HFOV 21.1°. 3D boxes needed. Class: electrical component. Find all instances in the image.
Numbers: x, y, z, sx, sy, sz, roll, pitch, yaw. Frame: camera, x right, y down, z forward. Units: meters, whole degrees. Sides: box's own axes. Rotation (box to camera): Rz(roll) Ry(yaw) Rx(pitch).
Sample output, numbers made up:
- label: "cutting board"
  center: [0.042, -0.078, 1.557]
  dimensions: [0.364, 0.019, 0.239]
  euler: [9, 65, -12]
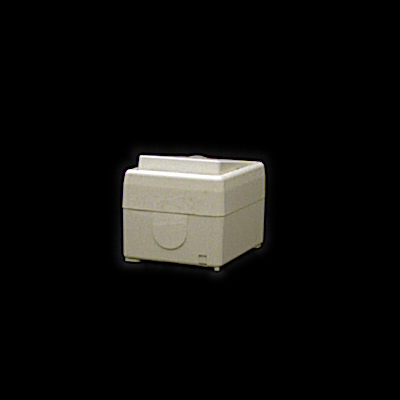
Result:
- label: "electrical component"
  center: [0.000, 0.000, 0.646]
  dimensions: [0.061, 0.061, 0.095]
  euler: [5, 11, 21]
